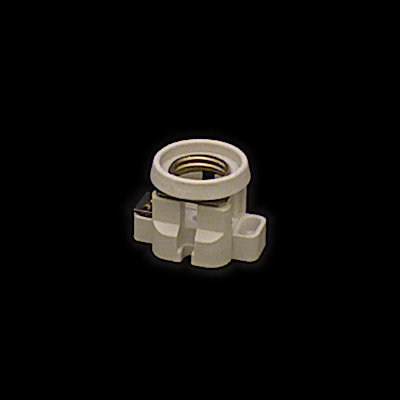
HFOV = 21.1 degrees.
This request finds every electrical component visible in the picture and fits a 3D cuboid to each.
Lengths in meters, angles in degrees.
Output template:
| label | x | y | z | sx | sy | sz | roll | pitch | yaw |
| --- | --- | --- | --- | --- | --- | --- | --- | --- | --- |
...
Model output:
| label | x | y | z | sx | sy | sz | roll | pitch | yaw |
| --- | --- | --- | --- | --- | --- | --- | --- | --- | --- |
| electrical component | 0.000 | 0.000 | 0.635 | 0.078 | 0.057 | 0.057 | 10 | 33 | 14 |
